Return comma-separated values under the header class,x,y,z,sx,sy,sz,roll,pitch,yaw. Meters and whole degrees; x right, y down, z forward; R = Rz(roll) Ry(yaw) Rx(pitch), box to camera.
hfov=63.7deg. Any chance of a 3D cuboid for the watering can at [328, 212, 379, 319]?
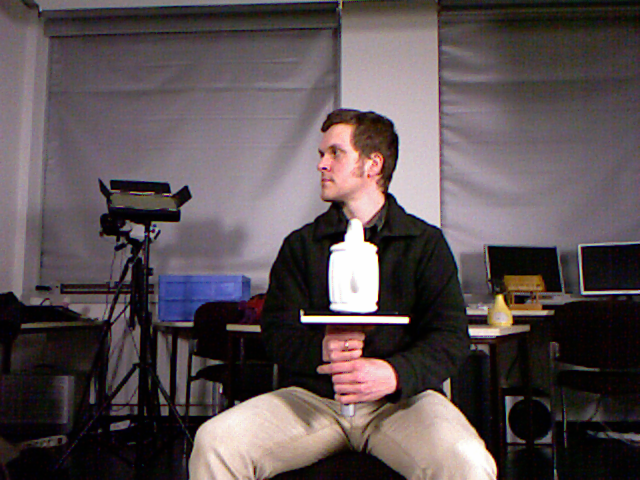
class,x,y,z,sx,sy,sz,roll,pitch,yaw
watering can,0.068,0.054,1.110,0.104,0.224,0.348,1,1,-2
